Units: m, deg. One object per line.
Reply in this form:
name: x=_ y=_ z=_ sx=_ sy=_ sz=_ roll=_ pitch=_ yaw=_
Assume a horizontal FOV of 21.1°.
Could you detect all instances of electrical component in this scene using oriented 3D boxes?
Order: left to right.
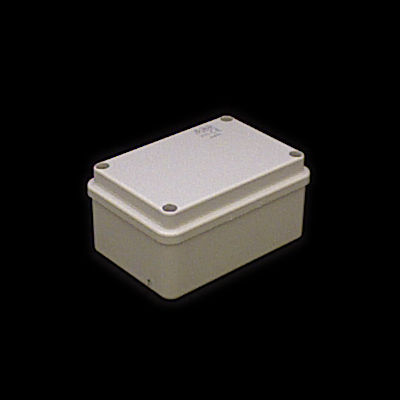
electrical component: x=0.000 y=0.000 z=0.636 sx=0.113 sy=0.058 sz=0.077 roll=-24 pitch=39 yaw=-35
